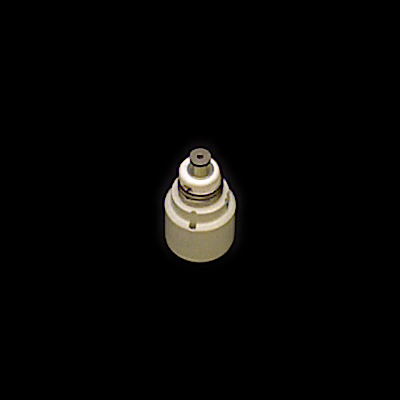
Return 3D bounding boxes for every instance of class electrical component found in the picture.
[{"bbox_3d":[0.000,0.000,0.620,0.040,0.040,0.078,0,-39,0],"label":"electrical component"}]
